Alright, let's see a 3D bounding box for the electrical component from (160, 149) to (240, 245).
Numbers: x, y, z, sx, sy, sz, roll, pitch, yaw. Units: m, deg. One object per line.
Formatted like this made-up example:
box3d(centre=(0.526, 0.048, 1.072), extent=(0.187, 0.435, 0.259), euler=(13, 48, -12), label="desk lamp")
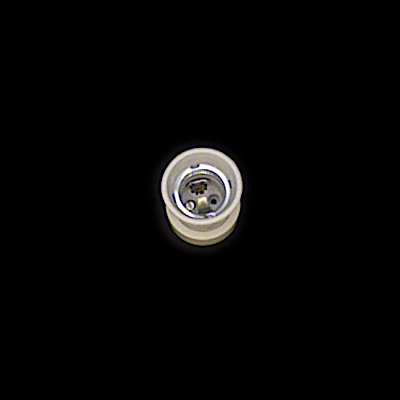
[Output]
box3d(centre=(0.000, 0.000, 0.628), extent=(0.045, 0.045, 0.055), euler=(0, -17, 0), label="electrical component")
